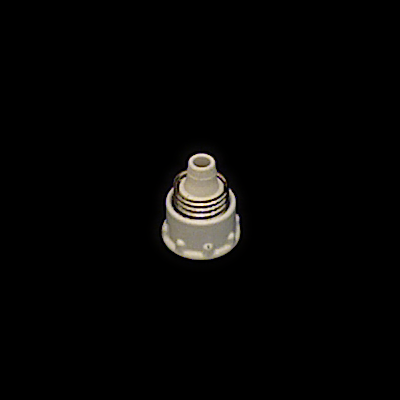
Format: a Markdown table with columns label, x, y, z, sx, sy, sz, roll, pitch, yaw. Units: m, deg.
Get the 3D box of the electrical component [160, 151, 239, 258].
| label | x | y | z | sx | sy | sz | roll | pitch | yaw |
| --- | --- | --- | --- | --- | --- | --- | --- | --- | --- |
| electrical component | 0.000 | 0.000 | 0.639 | 0.048 | 0.062 | 0.047 | 1 | 42 | 0 |
